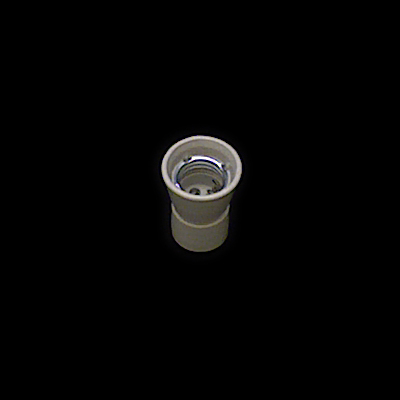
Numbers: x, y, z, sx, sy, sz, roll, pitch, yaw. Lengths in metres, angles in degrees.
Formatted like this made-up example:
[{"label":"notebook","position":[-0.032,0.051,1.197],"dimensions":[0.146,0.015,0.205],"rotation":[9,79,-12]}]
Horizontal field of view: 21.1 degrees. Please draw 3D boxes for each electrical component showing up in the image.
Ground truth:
[{"label":"electrical component","position":[0.000,0.000,0.625],"dimensions":[0.044,0.044,0.065],"rotation":[0,-37,-1]}]
